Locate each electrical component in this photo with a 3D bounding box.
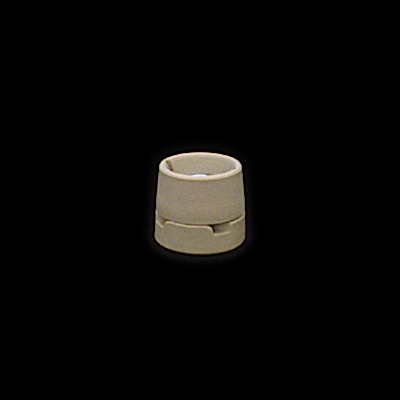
[{"bbox_3d":[0.000,0.000,0.642,0.055,0.047,0.055,0,20,0],"label":"electrical component"}]
